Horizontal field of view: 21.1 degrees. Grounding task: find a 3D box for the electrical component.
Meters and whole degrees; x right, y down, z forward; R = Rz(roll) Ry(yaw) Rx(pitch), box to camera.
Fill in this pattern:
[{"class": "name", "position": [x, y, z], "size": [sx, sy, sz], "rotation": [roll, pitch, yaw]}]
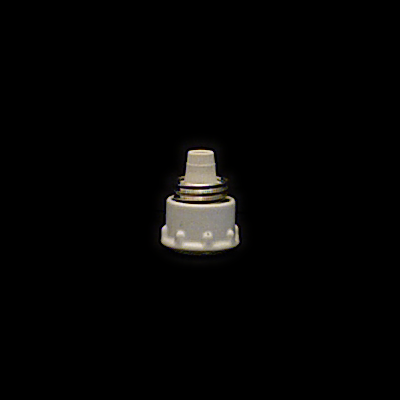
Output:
[{"class": "electrical component", "position": [0.000, 0.000, 0.649], "size": [0.048, 0.062, 0.048], "rotation": [0, 13, 0]}]
